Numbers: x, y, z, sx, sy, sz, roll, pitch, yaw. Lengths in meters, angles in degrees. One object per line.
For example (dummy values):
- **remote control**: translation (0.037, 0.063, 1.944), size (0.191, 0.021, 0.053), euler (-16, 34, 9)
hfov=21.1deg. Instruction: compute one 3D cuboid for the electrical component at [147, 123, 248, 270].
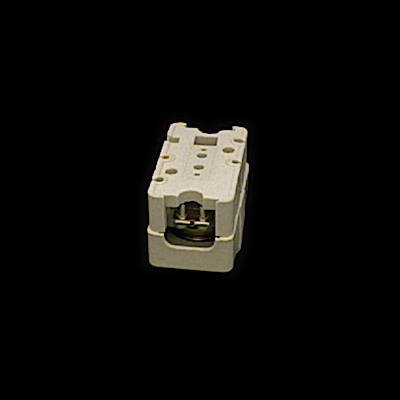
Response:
- **electrical component**: translation (0.000, 0.000, 0.642), size (0.050, 0.056, 0.088), euler (4, 32, 6)
